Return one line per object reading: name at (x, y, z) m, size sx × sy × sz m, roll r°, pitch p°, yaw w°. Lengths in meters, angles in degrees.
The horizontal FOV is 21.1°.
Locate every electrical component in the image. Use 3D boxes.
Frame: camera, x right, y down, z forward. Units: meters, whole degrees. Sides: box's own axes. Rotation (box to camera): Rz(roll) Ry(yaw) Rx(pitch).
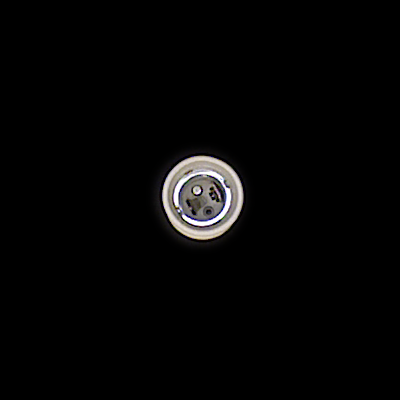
electrical component at (0.000, 0.000, 0.629) m, size 0.045 × 0.045 × 0.055 m, roll 0°, pitch -6°, yaw 0°
